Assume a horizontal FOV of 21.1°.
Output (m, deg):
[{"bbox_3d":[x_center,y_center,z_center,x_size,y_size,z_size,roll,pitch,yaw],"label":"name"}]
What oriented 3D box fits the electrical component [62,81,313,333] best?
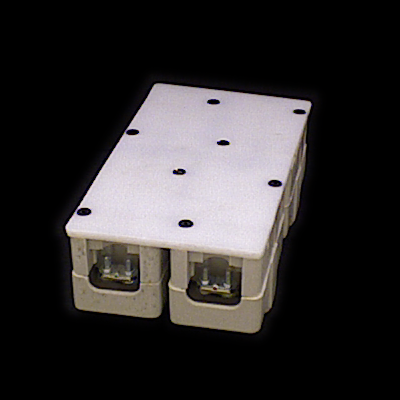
[{"bbox_3d":[0.000,0.000,0.633,0.105,0.061,0.184,8,32,10],"label":"electrical component"}]
